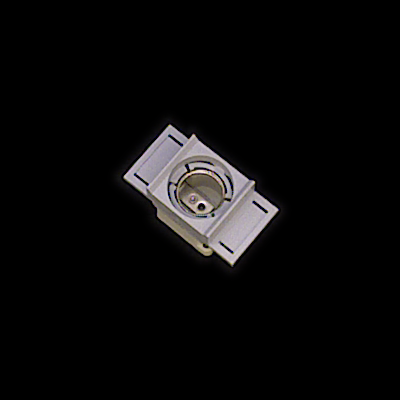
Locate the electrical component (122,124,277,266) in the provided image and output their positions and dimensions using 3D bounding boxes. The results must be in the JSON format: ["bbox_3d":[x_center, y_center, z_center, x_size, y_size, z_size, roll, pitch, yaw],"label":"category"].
[{"bbox_3d":[0.000,0.000,0.624,0.081,0.042,0.063,39,-11,10],"label":"electrical component"}]
